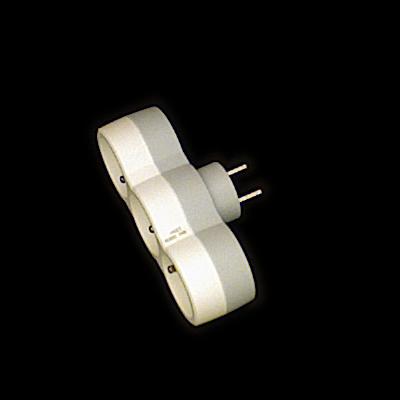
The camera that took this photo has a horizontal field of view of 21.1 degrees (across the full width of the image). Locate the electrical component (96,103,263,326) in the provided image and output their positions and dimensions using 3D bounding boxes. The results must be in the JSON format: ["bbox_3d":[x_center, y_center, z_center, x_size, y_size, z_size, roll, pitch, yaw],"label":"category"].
[{"bbox_3d":[0.000,0.000,0.638,0.074,0.138,0.052,-24,-24,-13],"label":"electrical component"}]
